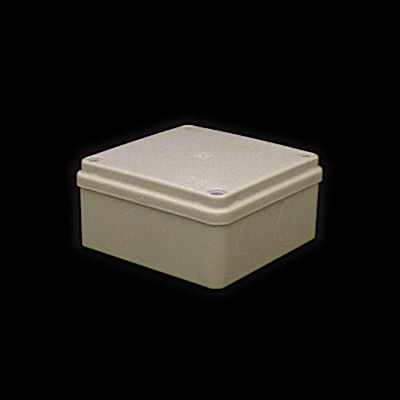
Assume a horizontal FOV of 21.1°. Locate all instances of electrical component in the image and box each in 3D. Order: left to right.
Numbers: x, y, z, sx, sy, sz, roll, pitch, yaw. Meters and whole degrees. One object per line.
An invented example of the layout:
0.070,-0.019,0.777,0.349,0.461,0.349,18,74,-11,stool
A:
0.000,0.000,0.641,0.108,0.057,0.108,16,25,34,electrical component
